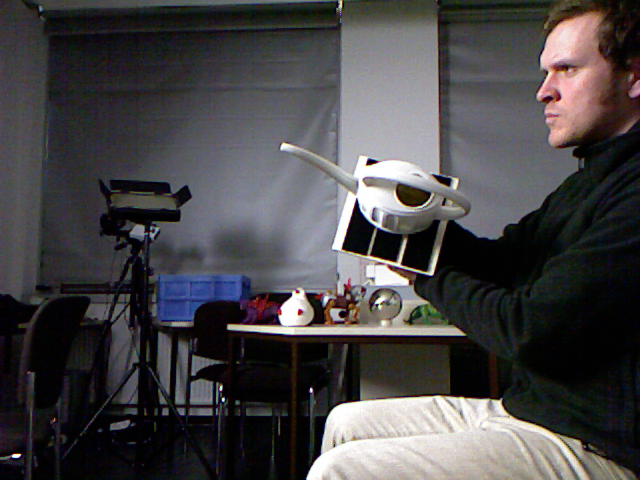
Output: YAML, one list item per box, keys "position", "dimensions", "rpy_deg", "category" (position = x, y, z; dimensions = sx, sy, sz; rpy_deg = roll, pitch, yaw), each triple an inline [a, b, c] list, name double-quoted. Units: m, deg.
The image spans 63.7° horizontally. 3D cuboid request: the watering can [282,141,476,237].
- position: [0.104, -0.095, 0.947]
  dimensions: [0.350, 0.106, 0.223]
  rpy_deg: [18, -12, 5]
  category: "watering can"
